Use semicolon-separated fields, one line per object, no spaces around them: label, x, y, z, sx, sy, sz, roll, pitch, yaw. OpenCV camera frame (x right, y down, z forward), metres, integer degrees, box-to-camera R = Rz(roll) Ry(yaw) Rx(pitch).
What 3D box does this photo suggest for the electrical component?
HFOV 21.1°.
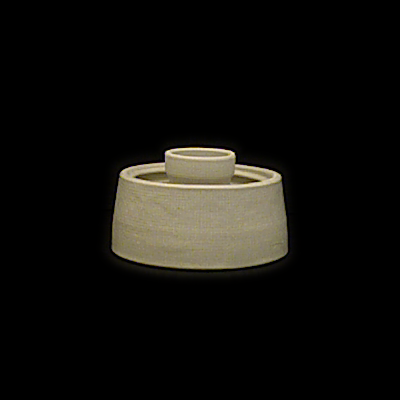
electrical component;0.000;0.000;0.651;0.108;0.061;0.107;1;11;0
